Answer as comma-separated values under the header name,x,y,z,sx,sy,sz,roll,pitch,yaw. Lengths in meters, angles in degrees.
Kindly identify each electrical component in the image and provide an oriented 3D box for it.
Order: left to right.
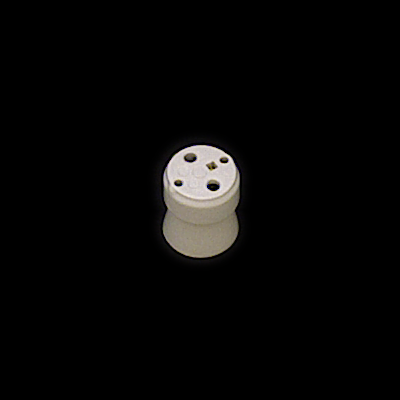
name,x,y,z,sx,sy,sz,roll,pitch,yaw
electrical component,0.000,0.000,0.629,0.045,0.044,0.055,0,-37,0
